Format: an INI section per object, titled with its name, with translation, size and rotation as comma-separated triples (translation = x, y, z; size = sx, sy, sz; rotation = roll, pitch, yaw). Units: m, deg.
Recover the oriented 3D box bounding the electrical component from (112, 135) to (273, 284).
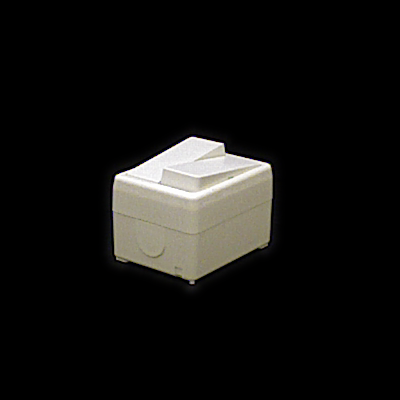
[electrical component]
translation = 0.000, 0.000, 0.641
size = 0.061, 0.061, 0.095
rotation = 16, 25, 34
